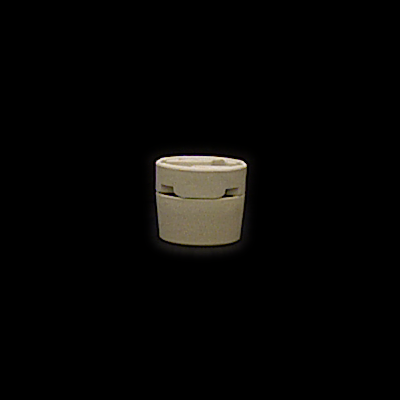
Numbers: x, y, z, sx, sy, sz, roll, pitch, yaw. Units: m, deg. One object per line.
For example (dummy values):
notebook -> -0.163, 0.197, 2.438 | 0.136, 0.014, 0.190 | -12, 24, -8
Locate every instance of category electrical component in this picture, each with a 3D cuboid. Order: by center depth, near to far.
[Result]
electrical component -> 0.000, 0.000, 0.647 | 0.055, 0.047, 0.055 | 1, 11, 0
